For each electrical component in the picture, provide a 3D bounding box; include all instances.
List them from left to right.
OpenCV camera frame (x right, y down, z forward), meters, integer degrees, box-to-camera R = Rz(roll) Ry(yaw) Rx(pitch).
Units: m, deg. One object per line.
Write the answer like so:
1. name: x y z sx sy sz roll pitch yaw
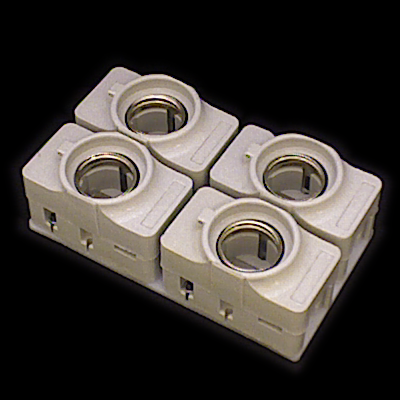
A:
1. electrical component: 0.000 0.000 0.627 0.186 0.105 0.060 25 -34 18
